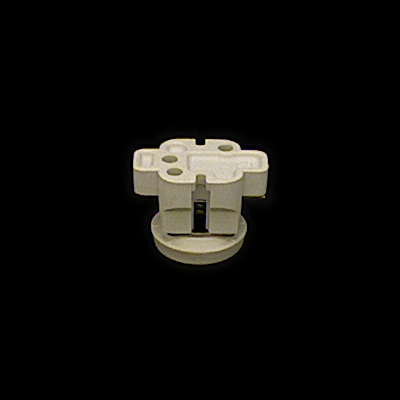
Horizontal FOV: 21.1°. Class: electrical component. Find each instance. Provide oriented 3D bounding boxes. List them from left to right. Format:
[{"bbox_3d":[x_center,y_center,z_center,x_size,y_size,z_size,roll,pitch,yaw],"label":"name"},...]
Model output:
[{"bbox_3d":[0.000,0.000,0.644,0.078,0.057,0.057,1,31,-3],"label":"electrical component"}]
